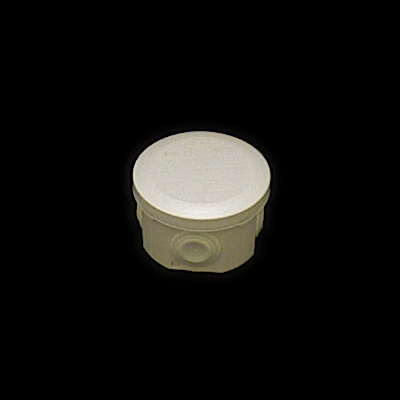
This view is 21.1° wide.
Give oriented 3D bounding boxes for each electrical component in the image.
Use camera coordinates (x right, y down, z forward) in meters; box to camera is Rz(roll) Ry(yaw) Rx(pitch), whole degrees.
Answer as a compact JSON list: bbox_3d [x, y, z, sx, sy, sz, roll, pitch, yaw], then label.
[{"bbox_3d":[0.000,0.000,0.634,0.080,0.051,0.079,1,42,0],"label":"electrical component"}]
